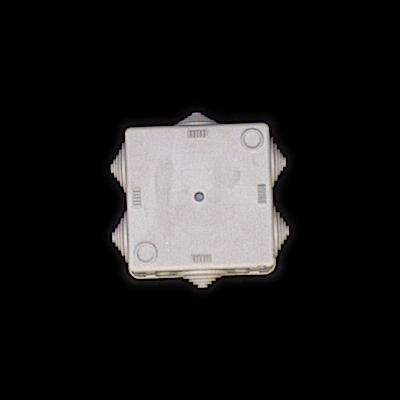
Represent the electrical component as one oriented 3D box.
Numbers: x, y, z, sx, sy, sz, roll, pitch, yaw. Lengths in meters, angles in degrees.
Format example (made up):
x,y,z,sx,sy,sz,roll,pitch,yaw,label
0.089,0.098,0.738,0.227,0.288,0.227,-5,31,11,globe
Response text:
x,y,z,sx,sy,sz,roll,pitch,yaw,label
0.000,0.000,0.632,0.100,0.100,0.048,-2,-7,0,electrical component
